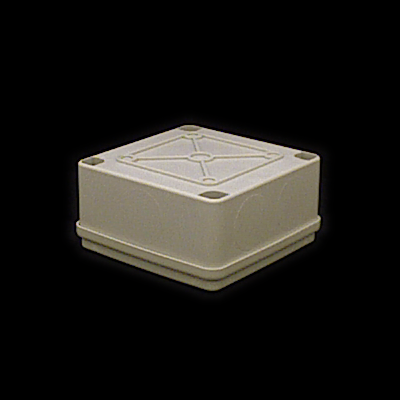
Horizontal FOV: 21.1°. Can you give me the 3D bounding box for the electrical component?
[{"bbox_3d":[0.000,0.000,0.637,0.107,0.057,0.108,16,26,36],"label":"electrical component"}]
